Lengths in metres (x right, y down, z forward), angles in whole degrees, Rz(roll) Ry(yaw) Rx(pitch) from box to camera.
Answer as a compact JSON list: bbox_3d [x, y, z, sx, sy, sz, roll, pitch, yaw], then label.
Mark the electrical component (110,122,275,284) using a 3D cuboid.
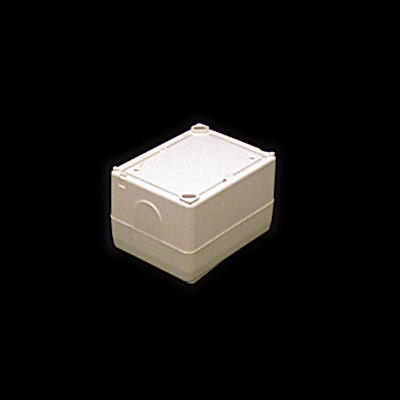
[{"bbox_3d":[0.000,0.000,0.634,0.061,0.061,0.096,24,38,33],"label":"electrical component"}]
